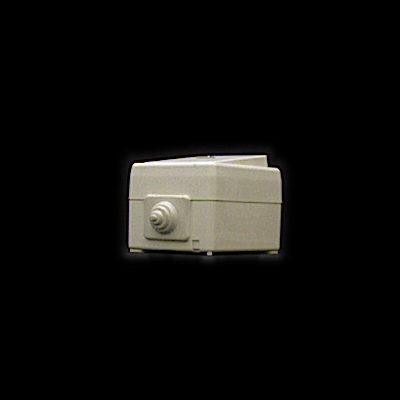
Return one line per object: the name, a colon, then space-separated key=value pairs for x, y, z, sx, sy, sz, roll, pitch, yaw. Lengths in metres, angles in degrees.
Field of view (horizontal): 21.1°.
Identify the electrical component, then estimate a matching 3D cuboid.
electrical component: x=0.000 y=0.000 z=0.648 sx=0.061 sy=0.061 sz=0.096 roll=2 pitch=0 yaw=34
